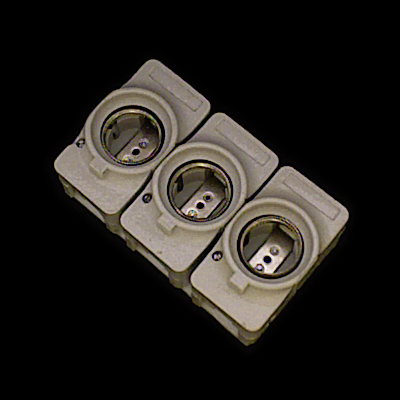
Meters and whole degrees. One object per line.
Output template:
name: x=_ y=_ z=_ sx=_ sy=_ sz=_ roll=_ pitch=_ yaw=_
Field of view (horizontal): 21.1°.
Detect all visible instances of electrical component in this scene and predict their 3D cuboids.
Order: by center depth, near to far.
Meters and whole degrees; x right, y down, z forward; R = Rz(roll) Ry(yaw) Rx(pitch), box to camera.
electrical component: x=0.000 y=0.000 z=0.631 sx=0.150 sy=0.089 sz=0.062 roll=39 pitch=-12 yaw=11
